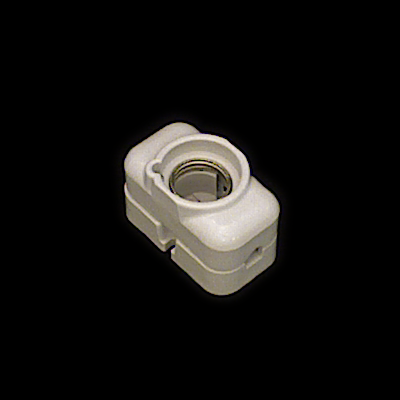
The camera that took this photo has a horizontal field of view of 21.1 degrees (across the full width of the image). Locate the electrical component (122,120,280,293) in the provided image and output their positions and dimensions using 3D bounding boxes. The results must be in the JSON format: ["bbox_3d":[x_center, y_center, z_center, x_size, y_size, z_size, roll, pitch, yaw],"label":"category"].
[{"bbox_3d":[0.000,0.000,0.634,0.054,0.059,0.094,-36,61,-25],"label":"electrical component"}]
